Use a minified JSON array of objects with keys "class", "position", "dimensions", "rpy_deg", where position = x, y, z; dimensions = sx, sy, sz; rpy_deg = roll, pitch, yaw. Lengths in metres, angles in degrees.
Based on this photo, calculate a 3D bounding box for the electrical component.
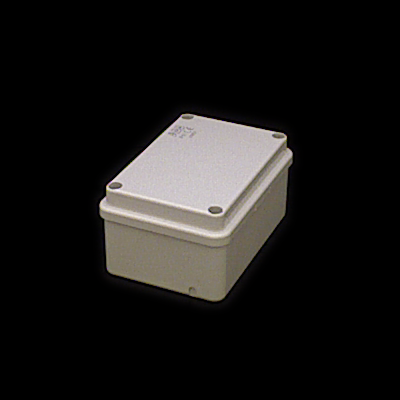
[{"class":"electrical component","position":[0.000,0.000,0.635],"dimensions":[0.078,0.058,0.112],"rpy_deg":[14,34,20]}]
